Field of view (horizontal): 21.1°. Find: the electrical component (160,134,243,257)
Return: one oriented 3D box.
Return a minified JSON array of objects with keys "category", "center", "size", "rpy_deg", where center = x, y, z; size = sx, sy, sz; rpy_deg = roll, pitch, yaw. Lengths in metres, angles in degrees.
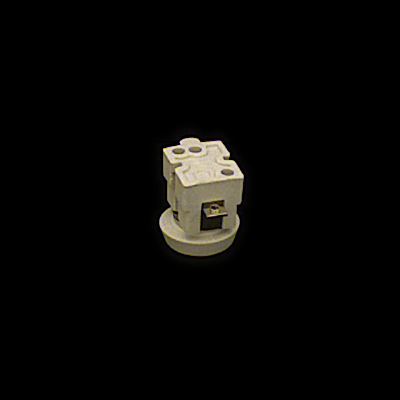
[{"category":"electrical component","center":[0.000,0.000,0.644],"size":[0.049,0.056,0.065],"rpy_deg":[-8,34,-16]}]
